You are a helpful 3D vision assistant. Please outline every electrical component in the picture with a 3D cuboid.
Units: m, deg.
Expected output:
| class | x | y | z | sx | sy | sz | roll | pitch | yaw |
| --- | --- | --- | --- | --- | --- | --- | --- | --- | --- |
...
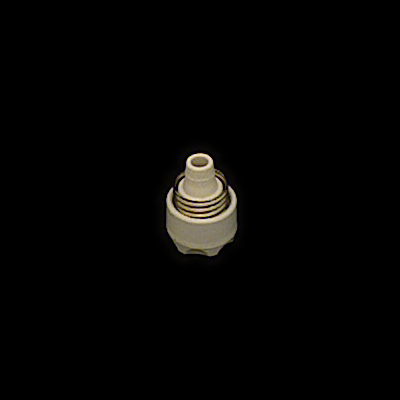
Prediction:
| class | x | y | z | sx | sy | sz | roll | pitch | yaw |
| --- | --- | --- | --- | --- | --- | --- | --- | --- | --- |
| electrical component | 0.000 | 0.000 | 0.638 | 0.043 | 0.062 | 0.043 | 0 | 42 | 1 |
